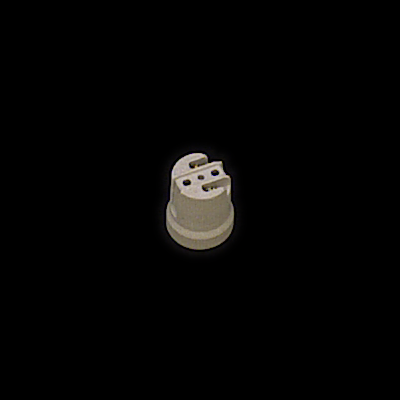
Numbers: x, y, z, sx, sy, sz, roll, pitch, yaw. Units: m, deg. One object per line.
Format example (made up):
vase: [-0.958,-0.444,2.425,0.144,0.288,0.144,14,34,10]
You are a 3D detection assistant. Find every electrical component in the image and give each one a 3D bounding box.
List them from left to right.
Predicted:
electrical component: [0.000,0.000,0.634,0.040,0.040,0.046,0,-37,0]
